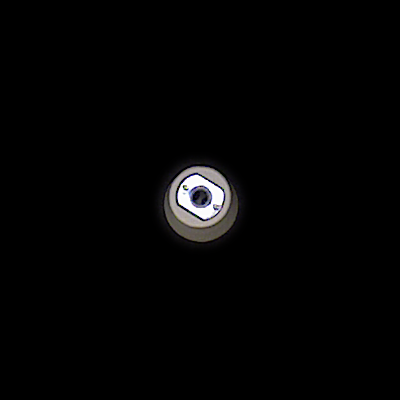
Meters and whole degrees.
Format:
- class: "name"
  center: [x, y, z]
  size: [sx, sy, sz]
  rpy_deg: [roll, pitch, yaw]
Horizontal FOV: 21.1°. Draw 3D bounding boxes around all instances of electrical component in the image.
- class: "electrical component"
  center: [0.000, 0.000, 0.626]
  size: [0.044, 0.044, 0.065]
  rpy_deg: [0, -5, 1]
